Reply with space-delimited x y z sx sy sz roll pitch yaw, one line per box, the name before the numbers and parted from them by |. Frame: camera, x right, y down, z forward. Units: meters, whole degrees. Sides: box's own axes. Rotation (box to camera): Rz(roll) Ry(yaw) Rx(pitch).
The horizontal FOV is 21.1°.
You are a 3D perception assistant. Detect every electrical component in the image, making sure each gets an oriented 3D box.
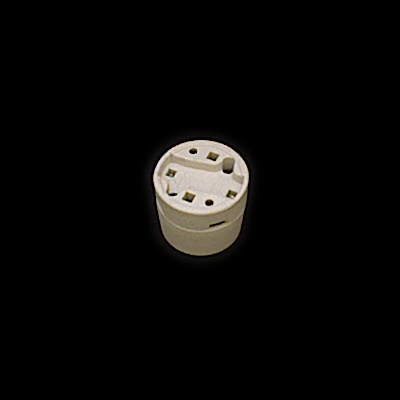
electrical component | 0.000 0.000 0.634 0.055 0.055 0.047 0 -38 -1
